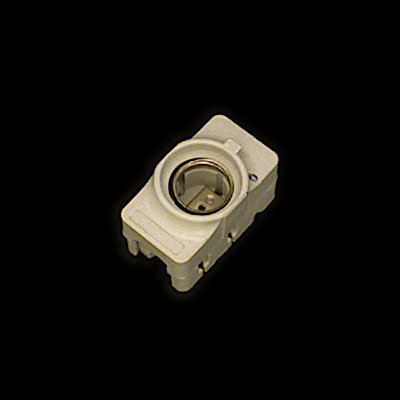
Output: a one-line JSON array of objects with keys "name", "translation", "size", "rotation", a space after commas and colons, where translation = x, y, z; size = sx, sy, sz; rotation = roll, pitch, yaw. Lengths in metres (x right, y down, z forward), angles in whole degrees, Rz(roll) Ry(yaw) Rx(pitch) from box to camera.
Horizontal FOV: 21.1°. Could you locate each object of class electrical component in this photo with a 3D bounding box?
[{"name": "electrical component", "translation": [0.000, 0.000, 0.635], "size": [0.050, 0.090, 0.055], "rotation": [37, -21, 17]}]
